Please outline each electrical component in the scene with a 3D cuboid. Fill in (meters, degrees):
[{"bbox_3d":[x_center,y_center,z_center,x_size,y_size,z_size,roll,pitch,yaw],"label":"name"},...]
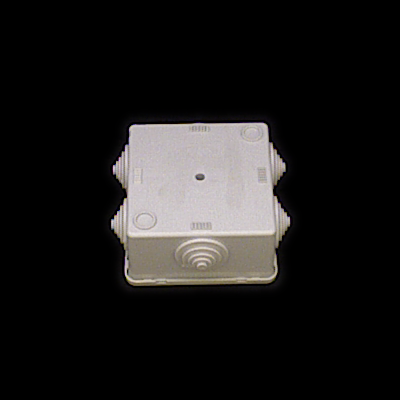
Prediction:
[{"bbox_3d":[0.000,0.000,0.633,0.100,0.099,0.049,-1,-37,-1],"label":"electrical component"}]
